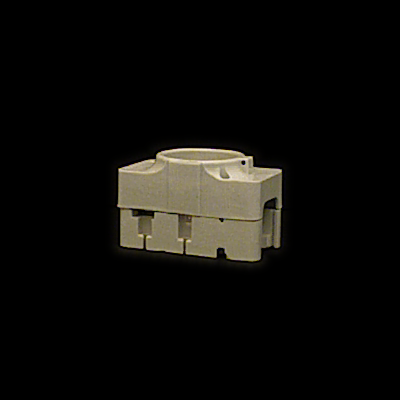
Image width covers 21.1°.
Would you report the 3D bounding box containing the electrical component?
[{"bbox_3d":[0.000,0.000,0.651,0.089,0.056,0.050,5,12,21],"label":"electrical component"}]
